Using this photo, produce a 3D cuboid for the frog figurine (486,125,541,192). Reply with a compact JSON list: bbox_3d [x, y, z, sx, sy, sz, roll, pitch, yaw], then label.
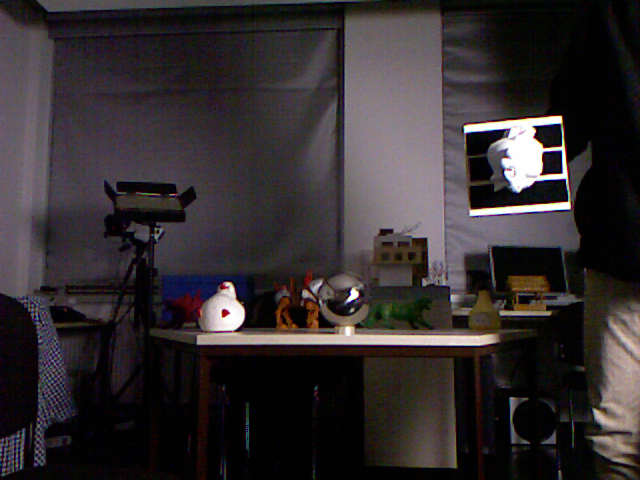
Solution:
[{"bbox_3d":[0.400,-0.171,1.056,0.123,0.138,0.159,18,-1,9],"label":"frog figurine"}]
